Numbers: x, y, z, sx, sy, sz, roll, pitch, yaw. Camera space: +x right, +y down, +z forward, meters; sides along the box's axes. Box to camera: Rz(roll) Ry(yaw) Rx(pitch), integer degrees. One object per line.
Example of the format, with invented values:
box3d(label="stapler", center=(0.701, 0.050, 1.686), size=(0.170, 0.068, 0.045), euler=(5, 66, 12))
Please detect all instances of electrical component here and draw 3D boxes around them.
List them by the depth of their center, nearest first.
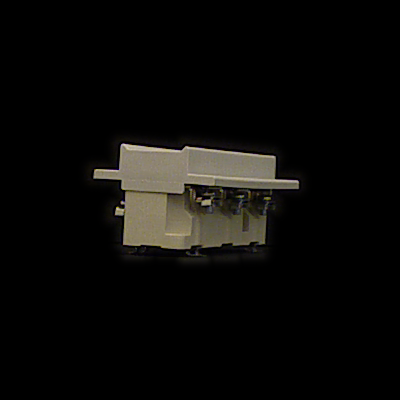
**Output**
box3d(label="electrical component", center=(0.000, 0.000, 0.663), size=(0.078, 0.063, 0.122), euler=(3, 1, 28))
